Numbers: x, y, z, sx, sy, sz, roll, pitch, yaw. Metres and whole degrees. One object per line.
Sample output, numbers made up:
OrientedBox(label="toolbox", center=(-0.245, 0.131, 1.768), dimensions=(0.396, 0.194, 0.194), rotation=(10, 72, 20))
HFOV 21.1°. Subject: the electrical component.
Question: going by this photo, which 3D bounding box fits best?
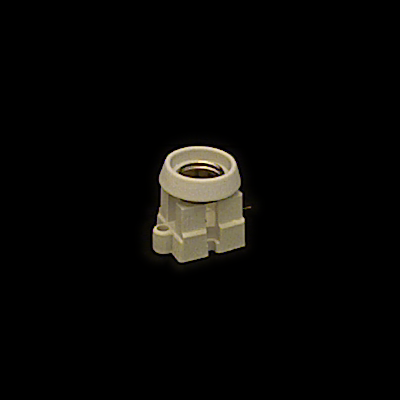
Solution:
OrientedBox(label="electrical component", center=(0.000, 0.000, 0.644), dimensions=(0.067, 0.056, 0.047), rotation=(-14, 37, -23))
